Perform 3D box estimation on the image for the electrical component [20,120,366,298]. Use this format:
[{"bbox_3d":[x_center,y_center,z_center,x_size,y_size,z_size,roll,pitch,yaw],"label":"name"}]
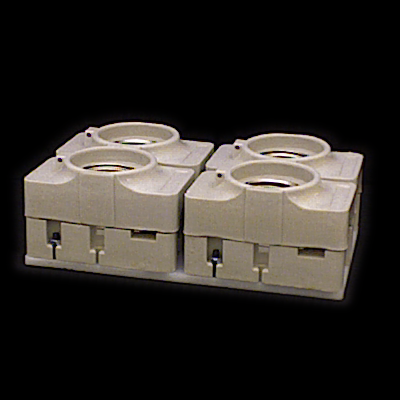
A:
[{"bbox_3d":[0.000,0.000,0.637,0.186,0.061,0.104,5,21,11],"label":"electrical component"}]
